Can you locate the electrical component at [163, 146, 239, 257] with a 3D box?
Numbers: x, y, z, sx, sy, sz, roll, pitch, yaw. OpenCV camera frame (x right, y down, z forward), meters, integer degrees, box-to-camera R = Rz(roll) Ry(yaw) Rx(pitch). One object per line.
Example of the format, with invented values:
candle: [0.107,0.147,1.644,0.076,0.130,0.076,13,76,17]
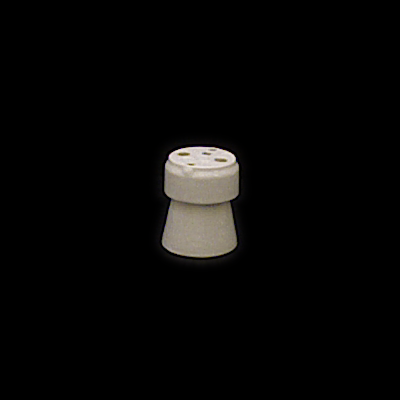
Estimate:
electrical component: [0.000,0.000,0.639,0.045,0.056,0.044,1,22,0]
